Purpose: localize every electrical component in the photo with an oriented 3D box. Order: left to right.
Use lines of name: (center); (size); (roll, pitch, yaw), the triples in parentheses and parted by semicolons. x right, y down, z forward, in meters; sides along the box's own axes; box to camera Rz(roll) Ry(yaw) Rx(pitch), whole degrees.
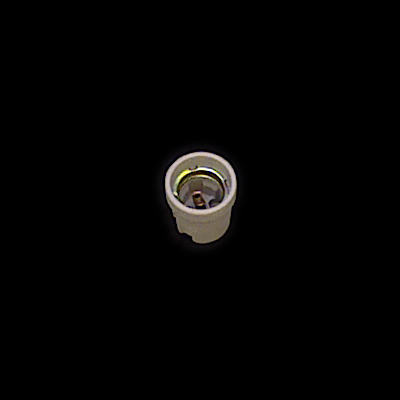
electrical component: (0.000, 0.000, 0.627); (0.040, 0.040, 0.046); (0, -27, 0)
